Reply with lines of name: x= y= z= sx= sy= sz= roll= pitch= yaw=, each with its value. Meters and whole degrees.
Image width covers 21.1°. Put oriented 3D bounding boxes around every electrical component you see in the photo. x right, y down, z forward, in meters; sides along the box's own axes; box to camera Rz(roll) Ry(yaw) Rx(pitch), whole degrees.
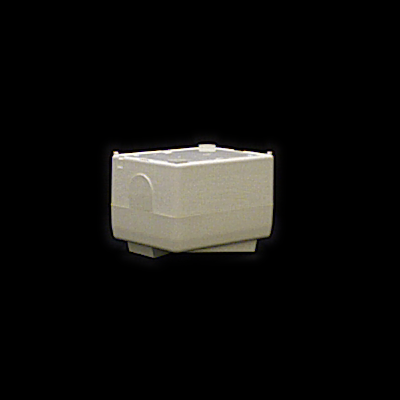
electrical component: x=0.000 y=0.000 z=0.651 sx=0.096 sy=0.061 sz=0.061 roll=-8 pitch=14 yaw=-42
